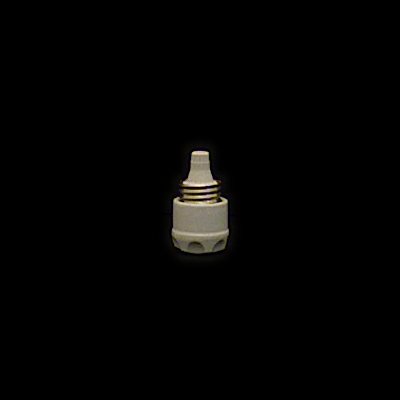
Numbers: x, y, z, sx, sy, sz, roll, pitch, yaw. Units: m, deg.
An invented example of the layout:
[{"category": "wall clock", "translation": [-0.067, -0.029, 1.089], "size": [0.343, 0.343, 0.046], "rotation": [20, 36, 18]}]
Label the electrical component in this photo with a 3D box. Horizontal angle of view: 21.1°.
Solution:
[{"category": "electrical component", "translation": [0.000, 0.000, 0.657], "size": [0.035, 0.062, 0.035], "rotation": [0, 13, 0]}]
